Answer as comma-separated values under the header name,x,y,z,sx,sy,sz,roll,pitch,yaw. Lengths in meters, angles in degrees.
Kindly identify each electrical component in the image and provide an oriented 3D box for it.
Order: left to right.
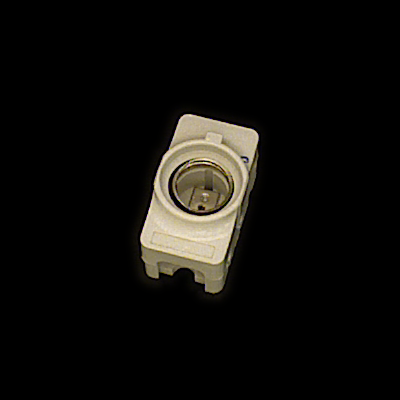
name,x,y,z,sx,sy,sz,roll,pitch,yaw
electrical component,0.000,0.000,0.636,0.050,0.090,0.055,13,-25,7
